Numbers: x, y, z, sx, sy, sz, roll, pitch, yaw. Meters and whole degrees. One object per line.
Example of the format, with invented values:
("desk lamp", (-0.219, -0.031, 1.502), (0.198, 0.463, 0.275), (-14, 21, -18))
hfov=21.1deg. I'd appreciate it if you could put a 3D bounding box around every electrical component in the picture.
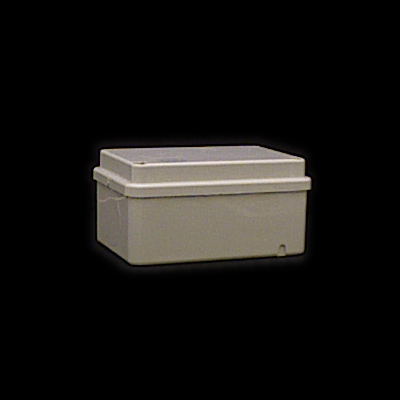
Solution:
("electrical component", (0.000, 0.000, 0.642), (0.113, 0.057, 0.077), (-3, 11, -22))
